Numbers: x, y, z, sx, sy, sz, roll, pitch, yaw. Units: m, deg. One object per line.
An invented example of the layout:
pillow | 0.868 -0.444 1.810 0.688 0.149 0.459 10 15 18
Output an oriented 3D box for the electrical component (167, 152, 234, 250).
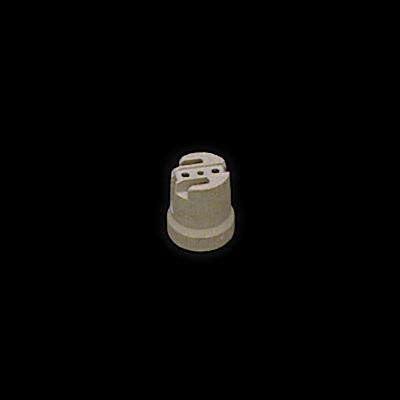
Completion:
electrical component | 0.000 0.000 0.636 0.040 0.046 0.040 1 42 0
